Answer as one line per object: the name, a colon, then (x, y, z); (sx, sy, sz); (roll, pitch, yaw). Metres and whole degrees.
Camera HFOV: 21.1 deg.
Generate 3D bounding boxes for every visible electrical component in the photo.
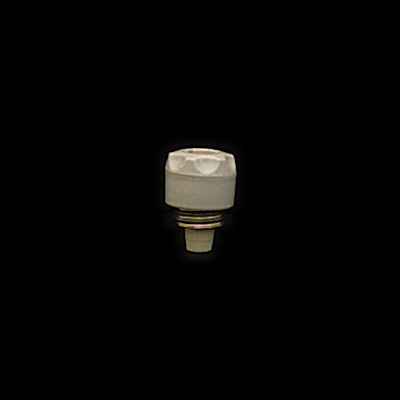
electrical component: (0.000, 0.000, 0.651); (0.043, 0.062, 0.043); (2, 12, 0)
